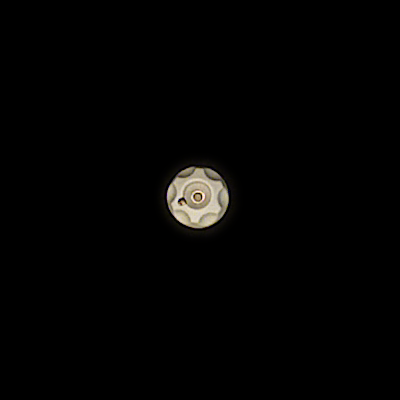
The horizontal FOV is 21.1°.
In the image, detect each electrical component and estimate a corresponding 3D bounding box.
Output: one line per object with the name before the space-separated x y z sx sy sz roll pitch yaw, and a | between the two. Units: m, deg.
electrical component | 0.000 0.000 0.634 0.035 0.035 0.061 0 -5 1
